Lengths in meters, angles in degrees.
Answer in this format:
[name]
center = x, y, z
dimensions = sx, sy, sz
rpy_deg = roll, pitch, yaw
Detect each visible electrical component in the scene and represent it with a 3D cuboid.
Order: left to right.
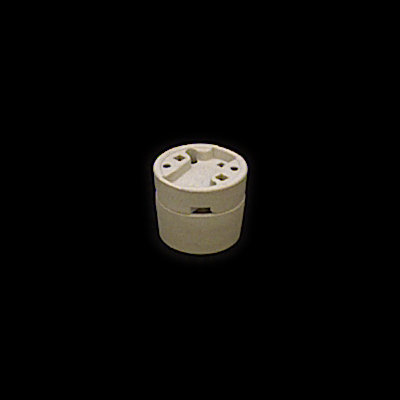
[electrical component]
center = 0.000, 0.000, 0.637
dimensions = 0.055, 0.047, 0.055
rpy_deg = 1, 31, 0
